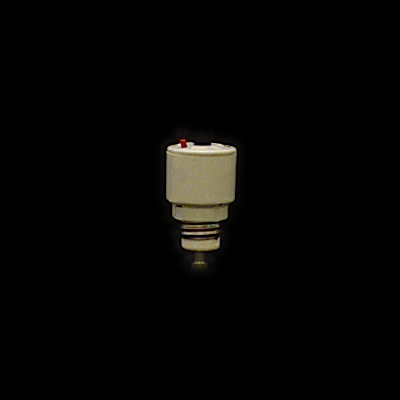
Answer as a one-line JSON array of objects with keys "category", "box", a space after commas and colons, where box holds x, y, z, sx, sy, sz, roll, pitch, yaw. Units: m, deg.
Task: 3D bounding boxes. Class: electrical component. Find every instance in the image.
[{"category": "electrical component", "box": [0.000, 0.000, 0.641, 0.040, 0.079, 0.040, 1, 12, 0]}]
